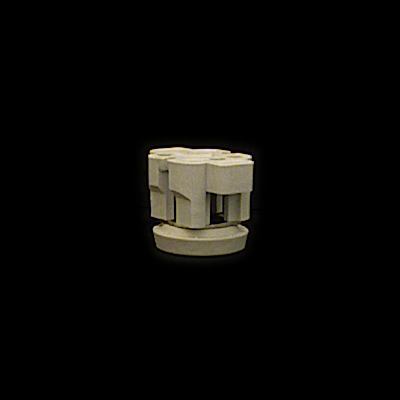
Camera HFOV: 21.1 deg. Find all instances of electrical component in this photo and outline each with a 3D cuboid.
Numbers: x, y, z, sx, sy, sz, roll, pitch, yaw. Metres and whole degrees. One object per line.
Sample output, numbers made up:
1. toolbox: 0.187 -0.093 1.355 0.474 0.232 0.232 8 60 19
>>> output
1. electrical component: 0.000 0.000 0.651 0.058 0.057 0.077 -9 13 -37
